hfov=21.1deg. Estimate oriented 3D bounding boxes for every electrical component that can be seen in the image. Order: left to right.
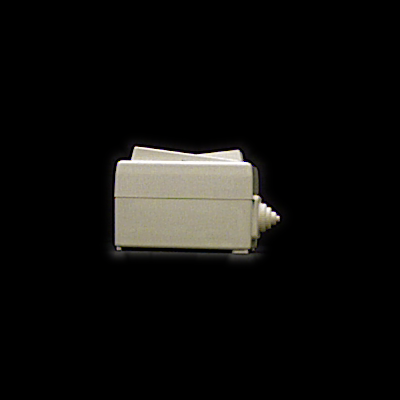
[{"bbox_3d":[0.000,0.000,0.650,0.096,0.061,0.061,1,0,7],"label":"electrical component"}]
